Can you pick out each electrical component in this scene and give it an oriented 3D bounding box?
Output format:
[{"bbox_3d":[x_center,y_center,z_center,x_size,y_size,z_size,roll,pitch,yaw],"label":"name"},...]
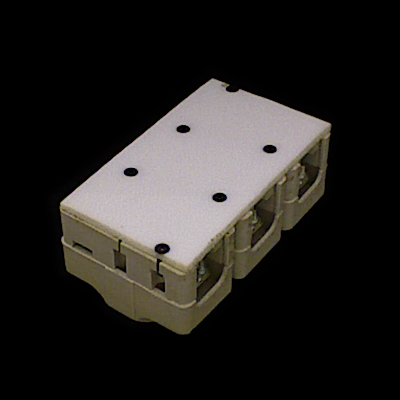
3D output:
[{"bbox_3d":[0.000,0.000,0.634,0.089,0.063,0.148,25,48,26],"label":"electrical component"}]
